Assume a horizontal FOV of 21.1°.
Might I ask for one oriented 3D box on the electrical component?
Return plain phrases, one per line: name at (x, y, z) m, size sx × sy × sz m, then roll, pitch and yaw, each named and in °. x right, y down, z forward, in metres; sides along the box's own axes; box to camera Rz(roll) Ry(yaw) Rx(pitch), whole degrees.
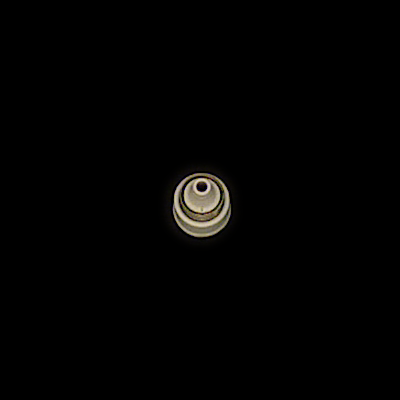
electrical component at (0.000, 0.000, 0.637) m, size 0.035 × 0.035 × 0.061 m, roll 0°, pitch -15°, yaw 0°
